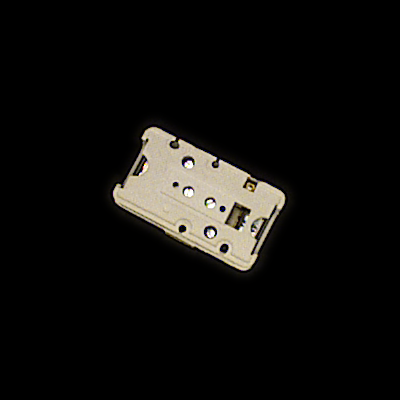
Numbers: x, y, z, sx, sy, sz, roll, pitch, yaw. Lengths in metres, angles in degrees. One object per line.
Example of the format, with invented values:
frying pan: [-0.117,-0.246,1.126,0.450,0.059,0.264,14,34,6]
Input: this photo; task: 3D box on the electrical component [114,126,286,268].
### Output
electrical component: [0.000,0.000,0.637,0.089,0.050,0.055,27,-6,2]
